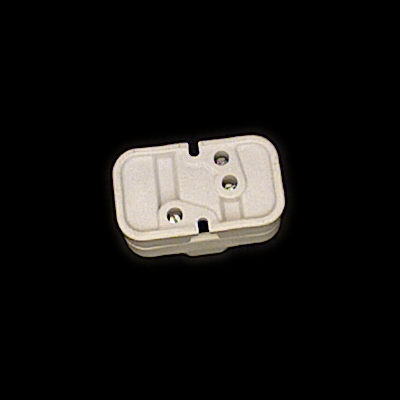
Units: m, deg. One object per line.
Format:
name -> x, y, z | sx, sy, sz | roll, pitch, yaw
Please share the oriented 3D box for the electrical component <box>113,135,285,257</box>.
electrical component -> 0.000, 0.000, 0.636 | 0.095, 0.054, 0.059 | -7, -16, -2
